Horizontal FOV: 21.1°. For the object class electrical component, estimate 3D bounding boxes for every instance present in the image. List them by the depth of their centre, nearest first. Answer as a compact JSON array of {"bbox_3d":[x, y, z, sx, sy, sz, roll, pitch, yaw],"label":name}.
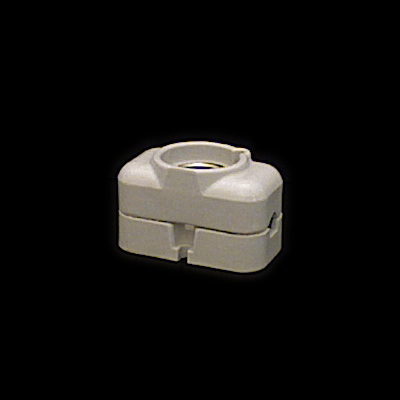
[{"bbox_3d":[0.000,0.000,0.647,0.094,0.060,0.053,10,24,20],"label":"electrical component"}]
